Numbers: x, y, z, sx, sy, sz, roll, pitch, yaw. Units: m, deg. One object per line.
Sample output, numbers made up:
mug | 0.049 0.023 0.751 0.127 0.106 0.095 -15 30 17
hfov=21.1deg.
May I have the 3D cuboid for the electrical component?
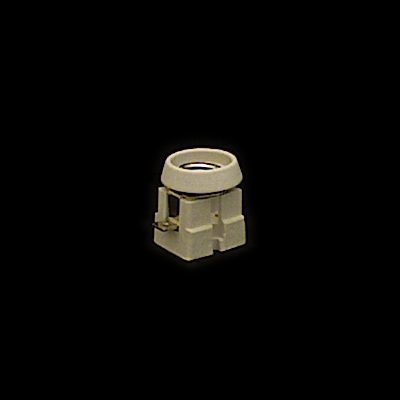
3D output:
electrical component | 0.000 0.000 0.645 0.067 0.056 0.047 -16 26 -37
